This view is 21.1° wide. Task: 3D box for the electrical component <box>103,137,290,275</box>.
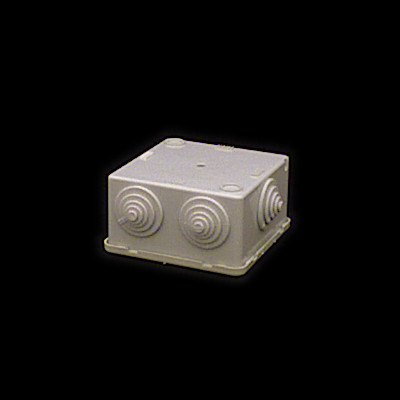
[{"bbox_3d":[0.000,0.000,0.641,0.099,0.049,0.099,10,23,21],"label":"electrical component"}]
